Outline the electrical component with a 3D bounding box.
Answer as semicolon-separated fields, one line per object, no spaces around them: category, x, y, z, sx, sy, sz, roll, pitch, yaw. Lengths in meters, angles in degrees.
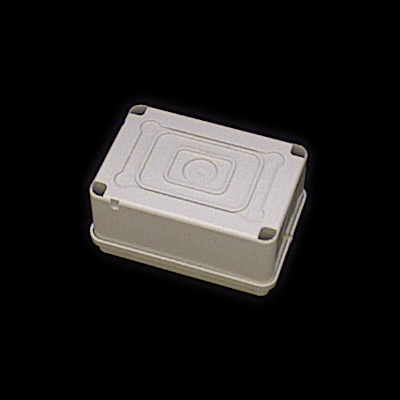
electrical component;0.000;0.000;0.630;0.113;0.078;0.057;15;-37;10
